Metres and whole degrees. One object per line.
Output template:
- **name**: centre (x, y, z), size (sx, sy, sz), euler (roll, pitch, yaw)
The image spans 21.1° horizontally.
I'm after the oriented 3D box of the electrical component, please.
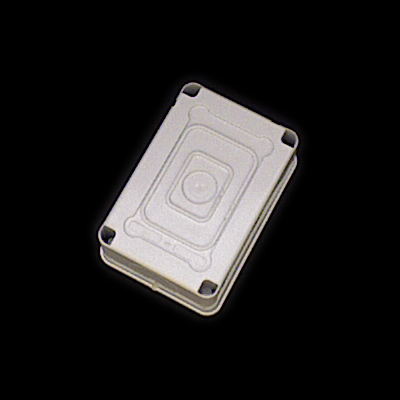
- **electrical component**: centre (0.000, 0.000, 0.627), size (0.078, 0.113, 0.057), euler (27, -15, 8)
